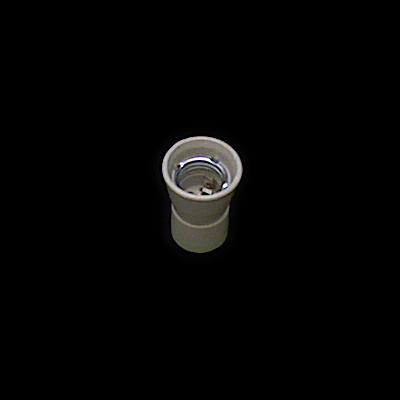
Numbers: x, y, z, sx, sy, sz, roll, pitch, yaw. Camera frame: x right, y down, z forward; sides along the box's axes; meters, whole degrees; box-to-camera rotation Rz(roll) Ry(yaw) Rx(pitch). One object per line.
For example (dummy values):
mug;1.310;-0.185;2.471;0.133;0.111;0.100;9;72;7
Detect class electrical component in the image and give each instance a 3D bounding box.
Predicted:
electrical component;0.000;0.000;0.626;0.044;0.044;0.065;0;-37;-2
